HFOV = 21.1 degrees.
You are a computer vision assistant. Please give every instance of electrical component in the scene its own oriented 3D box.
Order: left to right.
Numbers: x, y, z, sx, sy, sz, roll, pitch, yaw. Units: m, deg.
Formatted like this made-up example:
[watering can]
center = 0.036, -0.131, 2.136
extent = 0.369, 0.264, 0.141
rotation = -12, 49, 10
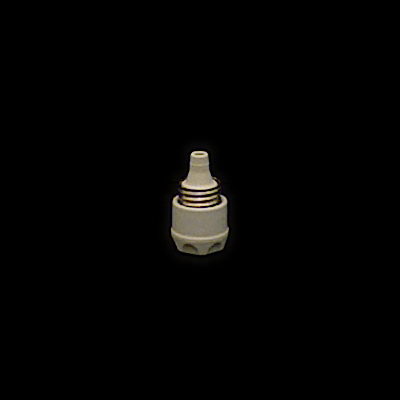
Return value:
[electrical component]
center = 0.000, 0.000, 0.649
extent = 0.035, 0.062, 0.035
rotation = 0, 21, 0
